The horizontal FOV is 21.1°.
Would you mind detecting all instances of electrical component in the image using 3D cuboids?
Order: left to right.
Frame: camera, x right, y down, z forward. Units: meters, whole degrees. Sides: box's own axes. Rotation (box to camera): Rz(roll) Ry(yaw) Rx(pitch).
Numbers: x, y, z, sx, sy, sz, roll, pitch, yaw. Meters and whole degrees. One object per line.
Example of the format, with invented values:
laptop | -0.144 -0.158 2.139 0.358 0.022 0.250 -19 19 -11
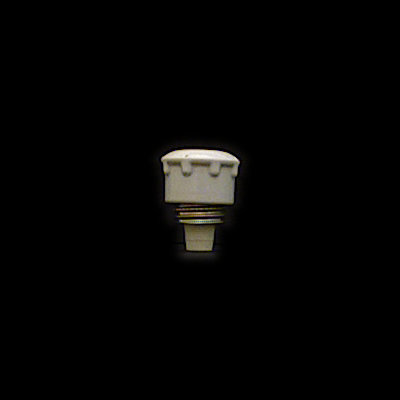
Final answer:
electrical component | 0.000 0.000 0.656 0.048 0.062 0.048 2 1 1
